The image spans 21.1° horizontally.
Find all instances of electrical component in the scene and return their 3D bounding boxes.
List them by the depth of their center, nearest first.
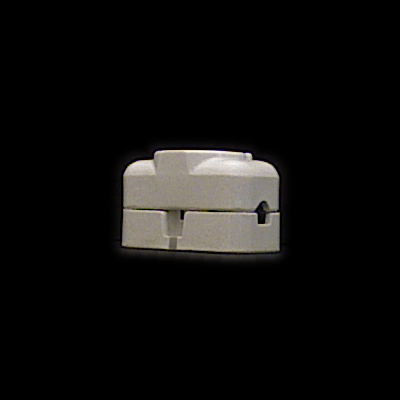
[{"bbox_3d":[0.000,0.000,0.658,0.094,0.059,0.054,2,2,36],"label":"electrical component"}]
